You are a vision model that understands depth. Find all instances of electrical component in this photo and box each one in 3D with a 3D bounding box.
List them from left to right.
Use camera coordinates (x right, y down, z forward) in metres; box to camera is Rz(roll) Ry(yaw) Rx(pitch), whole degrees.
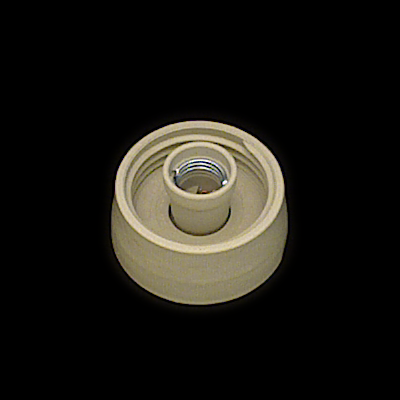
[{"bbox_3d":[0.000,0.000,0.635,0.108,0.107,0.060,0,-37,-1],"label":"electrical component"}]
